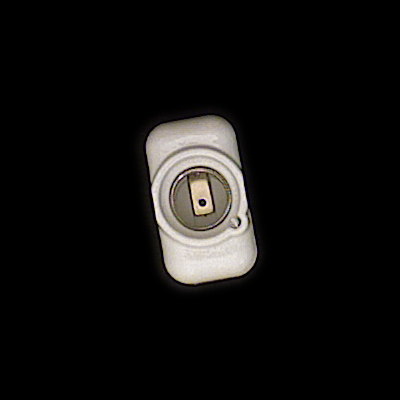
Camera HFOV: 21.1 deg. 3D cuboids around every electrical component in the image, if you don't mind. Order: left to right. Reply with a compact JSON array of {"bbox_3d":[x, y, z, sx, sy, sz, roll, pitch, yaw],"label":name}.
[{"bbox_3d":[0.000,0.000,0.635,0.054,0.095,0.059,-10,-5,0],"label":"electrical component"}]
